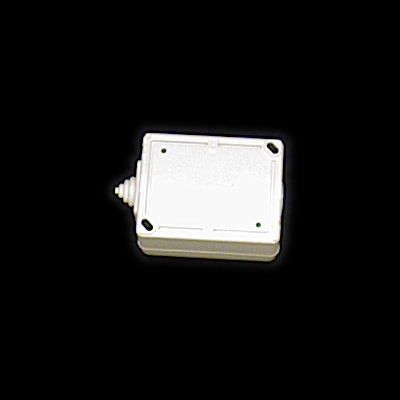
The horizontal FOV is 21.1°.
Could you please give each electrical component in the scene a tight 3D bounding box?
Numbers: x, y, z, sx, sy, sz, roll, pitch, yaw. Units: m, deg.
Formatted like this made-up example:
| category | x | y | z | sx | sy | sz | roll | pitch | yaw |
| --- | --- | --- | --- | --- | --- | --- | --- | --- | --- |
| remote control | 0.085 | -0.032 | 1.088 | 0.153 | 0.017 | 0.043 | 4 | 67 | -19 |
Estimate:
| category | x | y | z | sx | sy | sz | roll | pitch | yaw |
| --- | --- | --- | --- | --- | --- | --- | --- | --- | --- |
| electrical component | 0.000 | 0.000 | 0.625 | 0.096 | 0.062 | 0.060 | 3 | -16 | 1 |
